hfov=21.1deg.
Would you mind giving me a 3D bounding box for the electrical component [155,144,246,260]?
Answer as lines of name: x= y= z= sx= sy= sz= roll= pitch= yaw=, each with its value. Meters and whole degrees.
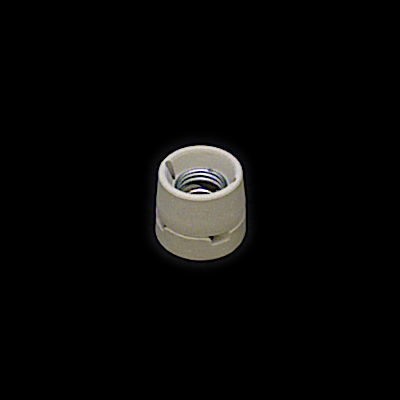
electrical component: x=0.000 y=0.000 z=0.636 sx=0.055 sy=0.047 sz=0.055 roll=0 pitch=42 yaw=0
